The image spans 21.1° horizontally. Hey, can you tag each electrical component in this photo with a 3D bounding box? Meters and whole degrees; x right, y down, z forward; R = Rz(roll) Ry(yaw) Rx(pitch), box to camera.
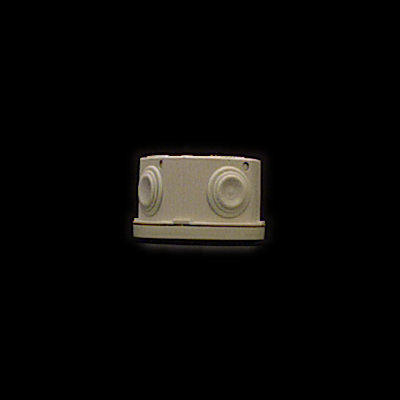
[{"bbox_3d":[0.000,0.000,0.651,0.080,0.051,0.080,1,0,0],"label":"electrical component"}]
